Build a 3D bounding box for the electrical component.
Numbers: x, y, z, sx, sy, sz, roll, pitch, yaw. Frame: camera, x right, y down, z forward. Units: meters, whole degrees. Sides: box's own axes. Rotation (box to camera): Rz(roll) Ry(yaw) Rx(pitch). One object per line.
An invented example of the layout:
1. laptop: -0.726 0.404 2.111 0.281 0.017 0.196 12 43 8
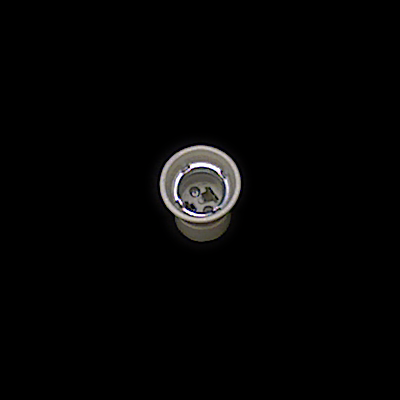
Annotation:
1. electrical component: 0.000 0.000 0.624 0.044 0.044 0.065 0 -17 1
